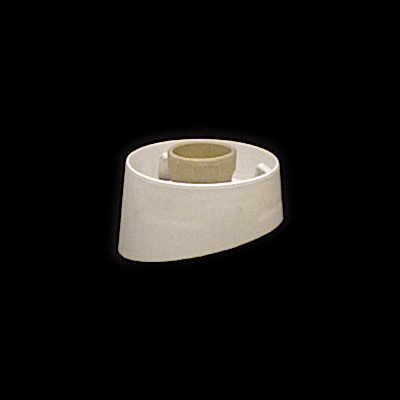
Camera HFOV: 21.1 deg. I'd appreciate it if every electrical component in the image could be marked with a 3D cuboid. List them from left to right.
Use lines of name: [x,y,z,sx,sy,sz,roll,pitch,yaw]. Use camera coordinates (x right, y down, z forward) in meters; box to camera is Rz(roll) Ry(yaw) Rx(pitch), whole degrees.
electrical component: [0.000,0.000,0.639,0.099,0.065,0.097,1,21,0]
